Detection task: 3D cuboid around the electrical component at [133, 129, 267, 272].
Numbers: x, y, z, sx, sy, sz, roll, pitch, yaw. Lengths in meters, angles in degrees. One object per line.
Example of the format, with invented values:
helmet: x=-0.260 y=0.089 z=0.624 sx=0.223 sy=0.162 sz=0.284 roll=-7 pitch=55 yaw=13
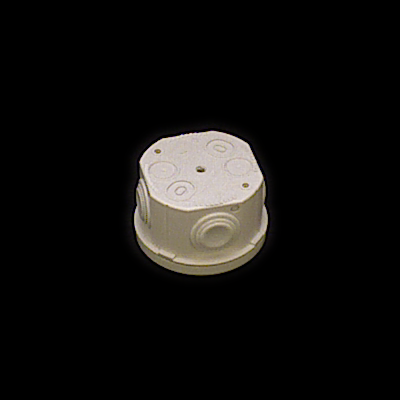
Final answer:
electrical component: x=0.000 y=0.000 z=0.634 sx=0.080 sy=0.051 sz=0.080 roll=0 pitch=42 yaw=0
